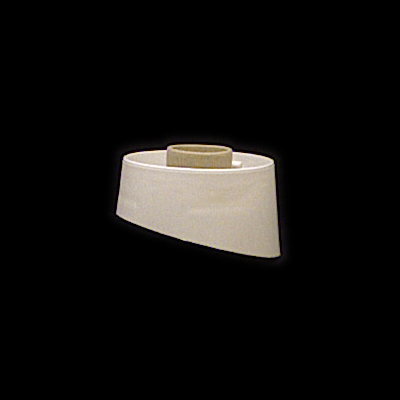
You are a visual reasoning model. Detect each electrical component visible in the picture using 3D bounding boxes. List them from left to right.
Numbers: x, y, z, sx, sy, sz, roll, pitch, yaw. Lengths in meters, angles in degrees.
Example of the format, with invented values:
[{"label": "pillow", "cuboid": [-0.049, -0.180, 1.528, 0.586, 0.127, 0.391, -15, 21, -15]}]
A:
[{"label": "electrical component", "cuboid": [0.000, 0.000, 0.643, 0.099, 0.064, 0.098, 2, 10, 0]}]
